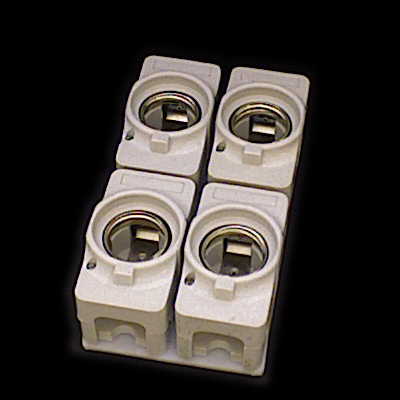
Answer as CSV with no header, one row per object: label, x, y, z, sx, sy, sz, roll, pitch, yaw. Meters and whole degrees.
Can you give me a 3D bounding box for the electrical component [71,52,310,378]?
electrical component,0.000,0.000,0.627,0.105,0.186,0.060,9,-37,6
